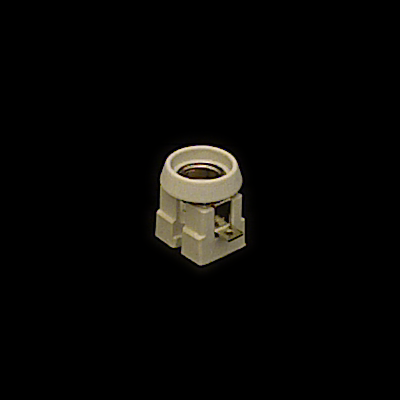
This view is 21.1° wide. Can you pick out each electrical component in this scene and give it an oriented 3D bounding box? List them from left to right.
[{"bbox_3d":[0.000,0.000,0.643,0.048,0.056,0.065,-27,42,-33],"label":"electrical component"}]
